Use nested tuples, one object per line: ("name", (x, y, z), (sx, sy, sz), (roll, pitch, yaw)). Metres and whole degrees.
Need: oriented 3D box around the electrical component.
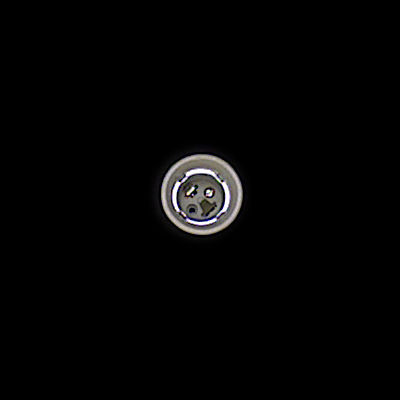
("electrical component", (0.000, 0.000, 0.625), (0.044, 0.044, 0.065), (0, -7, 0))
